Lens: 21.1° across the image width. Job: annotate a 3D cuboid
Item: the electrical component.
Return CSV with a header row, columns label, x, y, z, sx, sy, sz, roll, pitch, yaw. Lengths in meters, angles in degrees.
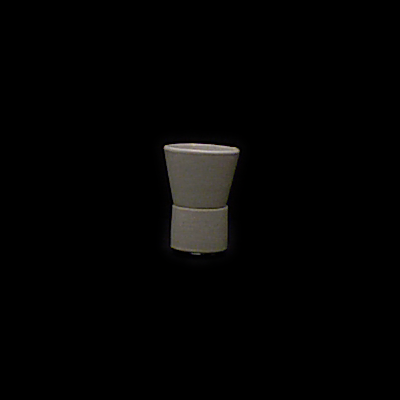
label,x,y,z,sx,sy,sz,roll,pitch,yaw
electrical component,0.000,0.000,0.646,0.044,0.066,0.044,2,10,0
